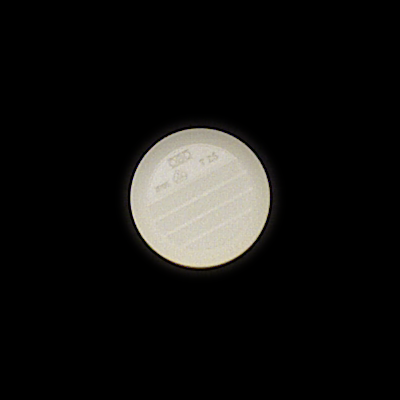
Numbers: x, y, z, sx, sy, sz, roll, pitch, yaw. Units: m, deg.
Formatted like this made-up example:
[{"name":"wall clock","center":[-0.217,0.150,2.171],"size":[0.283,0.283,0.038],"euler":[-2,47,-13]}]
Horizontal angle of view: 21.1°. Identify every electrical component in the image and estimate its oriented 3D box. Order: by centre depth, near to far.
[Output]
[{"name":"electrical component","center":[0.000,0.000,0.631],"size":[0.080,0.080,0.050],"euler":[0,-7,0]}]
